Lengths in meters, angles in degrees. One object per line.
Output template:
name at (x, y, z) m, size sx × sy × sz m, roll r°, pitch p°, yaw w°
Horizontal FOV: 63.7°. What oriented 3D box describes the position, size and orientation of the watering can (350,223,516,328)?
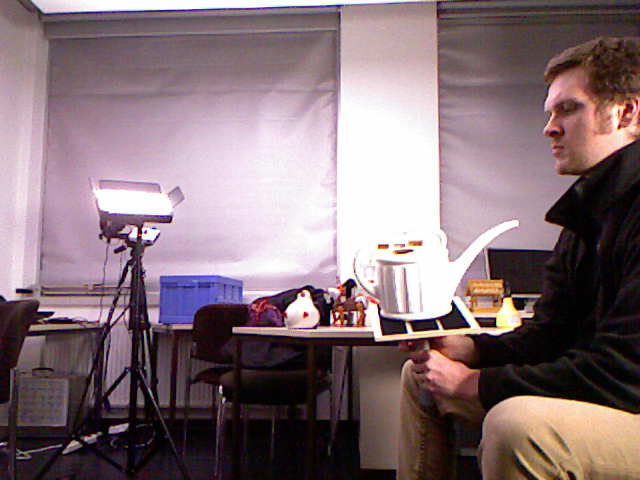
watering can at (0.239, 0.070, 1.085) m, size 0.348 × 0.221 × 0.105 m, roll -5°, pitch 17°, yaw 3°
